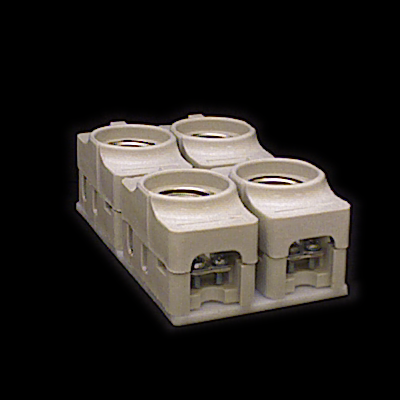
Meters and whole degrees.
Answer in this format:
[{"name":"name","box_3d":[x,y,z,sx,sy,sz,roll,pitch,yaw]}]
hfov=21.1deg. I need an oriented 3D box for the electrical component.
[{"name":"electrical component","box_3d":[0.000,0.000,0.638,0.106,0.061,0.183,-7,22,-21]}]
